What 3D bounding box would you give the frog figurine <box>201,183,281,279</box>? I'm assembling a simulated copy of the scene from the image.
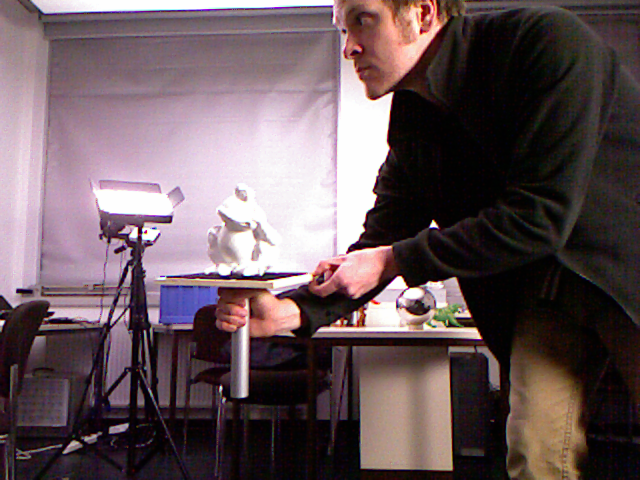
[{"bbox_3d":[-0.135,-0.017,0.885,0.138,0.160,0.123,3,3,35],"label":"frog figurine"}]
